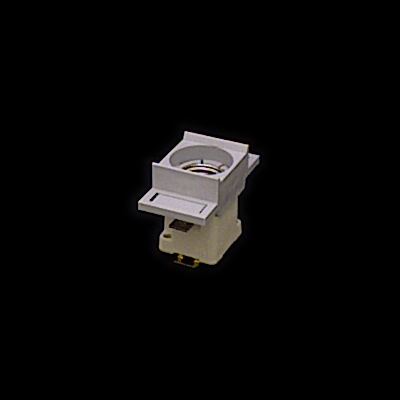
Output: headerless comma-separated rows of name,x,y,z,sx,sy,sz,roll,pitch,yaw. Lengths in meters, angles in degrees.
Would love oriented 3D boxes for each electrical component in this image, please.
electrical component,0.000,0.000,0.635,0.042,0.064,0.080,13,34,21
